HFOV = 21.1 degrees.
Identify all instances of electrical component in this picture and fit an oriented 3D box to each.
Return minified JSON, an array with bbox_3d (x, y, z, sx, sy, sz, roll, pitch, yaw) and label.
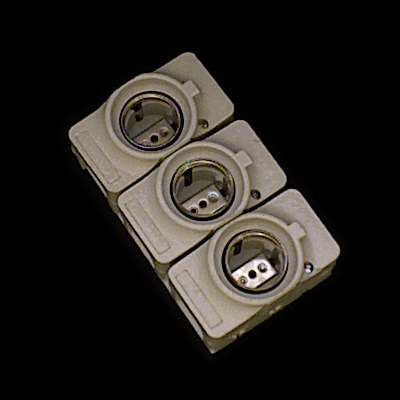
[{"bbox_3d":[0.000,0.000,0.632,0.089,0.150,0.062,-34,-14,-10],"label":"electrical component"}]
